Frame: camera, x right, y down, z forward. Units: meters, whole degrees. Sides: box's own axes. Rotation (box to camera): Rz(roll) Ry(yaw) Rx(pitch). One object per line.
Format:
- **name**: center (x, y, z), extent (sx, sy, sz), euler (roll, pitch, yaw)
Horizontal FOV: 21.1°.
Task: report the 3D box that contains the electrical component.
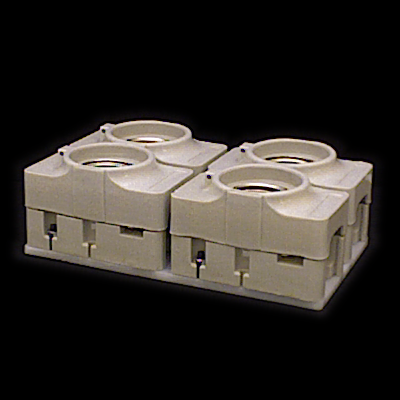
- **electrical component**: center (0.000, 0.000, 0.638), extent (0.185, 0.061, 0.104), euler (9, 22, 21)
